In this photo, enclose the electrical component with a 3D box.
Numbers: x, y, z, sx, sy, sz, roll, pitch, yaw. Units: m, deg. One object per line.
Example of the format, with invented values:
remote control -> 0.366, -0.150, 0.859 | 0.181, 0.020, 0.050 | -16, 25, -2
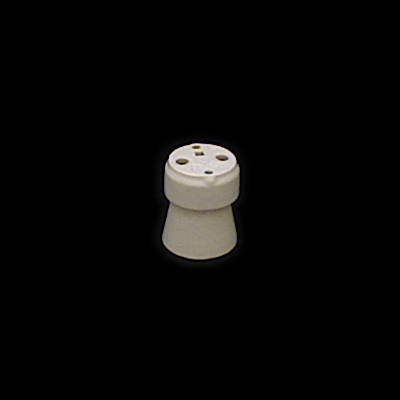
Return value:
electrical component -> 0.000, 0.000, 0.636 | 0.045, 0.056, 0.044 | 1, 32, -1
